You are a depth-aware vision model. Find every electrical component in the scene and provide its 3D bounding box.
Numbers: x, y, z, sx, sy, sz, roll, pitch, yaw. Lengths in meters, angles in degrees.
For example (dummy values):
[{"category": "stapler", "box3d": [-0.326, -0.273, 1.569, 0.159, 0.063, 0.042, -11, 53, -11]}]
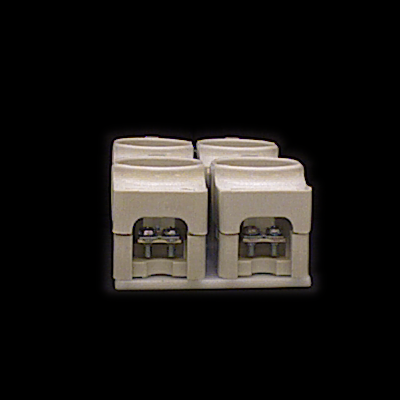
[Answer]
[{"category": "electrical component", "box3d": [0.000, 0.000, 0.644, 0.105, 0.060, 0.184, 0, 10, -5]}]
